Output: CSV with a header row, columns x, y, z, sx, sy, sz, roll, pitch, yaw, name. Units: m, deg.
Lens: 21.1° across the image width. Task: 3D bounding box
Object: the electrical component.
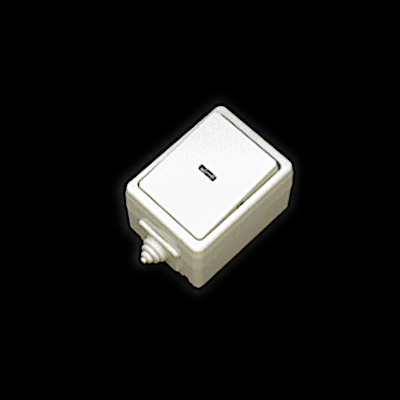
x,y,z,sx,sy,sz,roll,pitch,yaw,name
0.000,0.000,0.625,0.061,0.096,0.060,41,-20,19,electrical component
